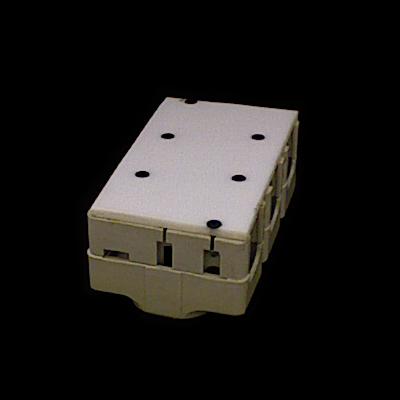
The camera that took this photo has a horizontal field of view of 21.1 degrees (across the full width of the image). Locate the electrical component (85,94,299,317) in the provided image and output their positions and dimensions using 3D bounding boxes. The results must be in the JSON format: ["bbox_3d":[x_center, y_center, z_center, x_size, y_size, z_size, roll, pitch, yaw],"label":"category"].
[{"bbox_3d":[0.000,0.000,0.637,0.089,0.063,0.147,8,32,13],"label":"electrical component"}]
